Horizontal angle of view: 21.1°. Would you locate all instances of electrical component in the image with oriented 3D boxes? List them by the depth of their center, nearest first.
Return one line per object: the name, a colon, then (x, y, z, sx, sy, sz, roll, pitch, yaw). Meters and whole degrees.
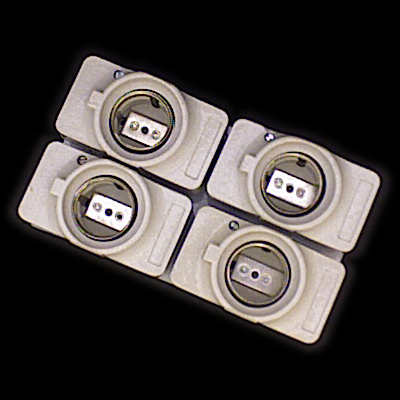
electrical component: (0.000, 0.000, 0.626, 0.186, 0.106, 0.060, 23, -6, 3)
